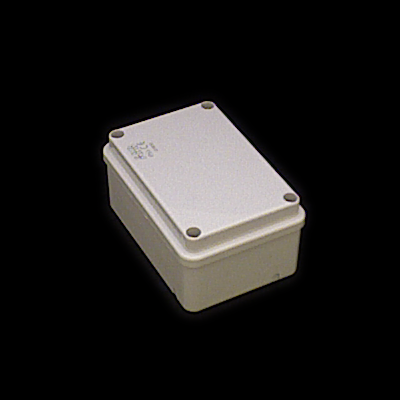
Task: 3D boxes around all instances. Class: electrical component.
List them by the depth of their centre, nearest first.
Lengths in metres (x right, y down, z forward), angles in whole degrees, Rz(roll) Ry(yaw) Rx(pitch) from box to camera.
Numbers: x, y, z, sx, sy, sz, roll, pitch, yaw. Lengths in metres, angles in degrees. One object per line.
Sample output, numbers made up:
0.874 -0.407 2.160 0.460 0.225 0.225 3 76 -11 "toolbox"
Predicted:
0.000 0.000 0.630 0.078 0.057 0.112 -20 46 -21 "electrical component"
